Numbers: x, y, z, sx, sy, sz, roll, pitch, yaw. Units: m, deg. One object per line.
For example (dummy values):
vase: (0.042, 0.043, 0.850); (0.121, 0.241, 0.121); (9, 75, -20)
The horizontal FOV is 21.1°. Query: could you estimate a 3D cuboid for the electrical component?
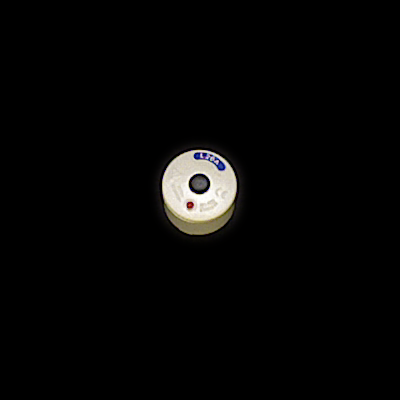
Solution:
electrical component: (0.000, 0.000, 0.616); (0.040, 0.040, 0.078); (0, -16, 0)
